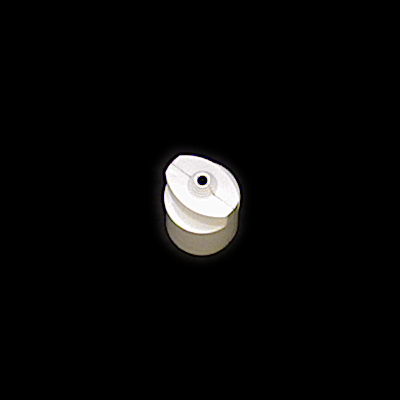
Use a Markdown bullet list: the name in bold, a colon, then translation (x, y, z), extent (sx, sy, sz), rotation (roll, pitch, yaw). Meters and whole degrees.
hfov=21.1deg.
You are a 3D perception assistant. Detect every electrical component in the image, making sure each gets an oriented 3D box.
- **electrical component**: translation (0.000, 0.000, 0.616), extent (0.043, 0.043, 0.080), rotation (0, -17, 0)
